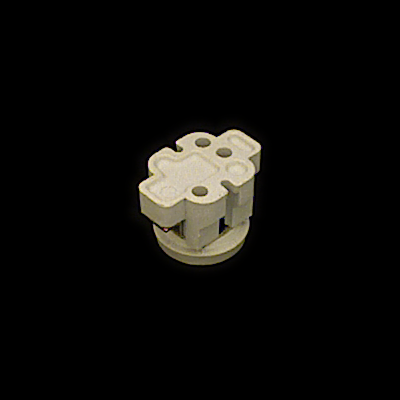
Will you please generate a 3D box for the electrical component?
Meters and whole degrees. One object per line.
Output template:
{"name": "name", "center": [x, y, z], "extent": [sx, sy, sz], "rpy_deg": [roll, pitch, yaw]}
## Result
{"name": "electrical component", "center": [0.000, 0.000, 0.637], "extent": [0.079, 0.057, 0.057], "rpy_deg": [-34, 53, -30]}
